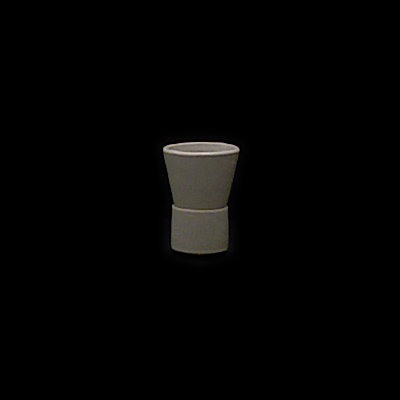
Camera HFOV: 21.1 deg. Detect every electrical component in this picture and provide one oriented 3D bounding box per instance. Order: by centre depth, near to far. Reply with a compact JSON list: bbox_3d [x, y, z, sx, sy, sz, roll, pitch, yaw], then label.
[{"bbox_3d":[0.000,0.000,0.641,0.044,0.066,0.044,1,12,0],"label":"electrical component"}]
